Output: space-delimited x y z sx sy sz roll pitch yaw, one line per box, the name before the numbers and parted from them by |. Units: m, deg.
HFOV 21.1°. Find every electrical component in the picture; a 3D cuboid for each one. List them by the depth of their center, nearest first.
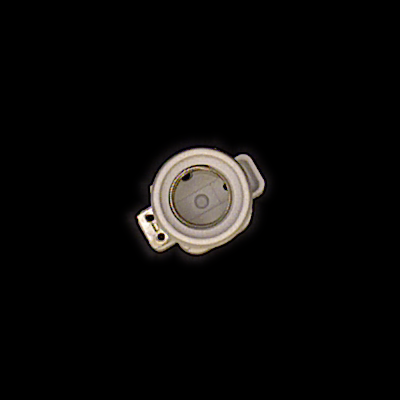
electrical component | 0.000 0.000 0.629 0.078 0.058 0.056 -30 -5 -3
